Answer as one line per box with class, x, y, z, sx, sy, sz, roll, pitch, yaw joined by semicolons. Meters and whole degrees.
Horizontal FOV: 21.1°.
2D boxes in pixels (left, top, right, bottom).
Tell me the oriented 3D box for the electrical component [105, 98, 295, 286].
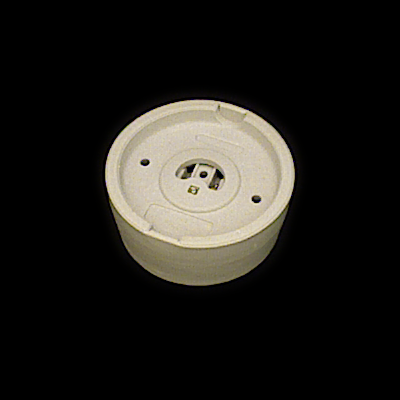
electrical component;0.000;0.000;0.633;0.108;0.107;0.060;0;-37;-1
